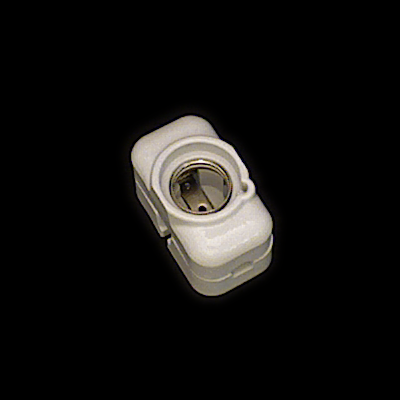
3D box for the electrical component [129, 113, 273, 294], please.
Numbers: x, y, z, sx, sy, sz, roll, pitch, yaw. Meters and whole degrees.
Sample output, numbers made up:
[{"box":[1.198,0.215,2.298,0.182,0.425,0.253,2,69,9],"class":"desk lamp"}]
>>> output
[{"box":[0.000,0.000,0.634,0.054,0.095,0.059,-28,-23,-12],"class":"electrical component"}]
